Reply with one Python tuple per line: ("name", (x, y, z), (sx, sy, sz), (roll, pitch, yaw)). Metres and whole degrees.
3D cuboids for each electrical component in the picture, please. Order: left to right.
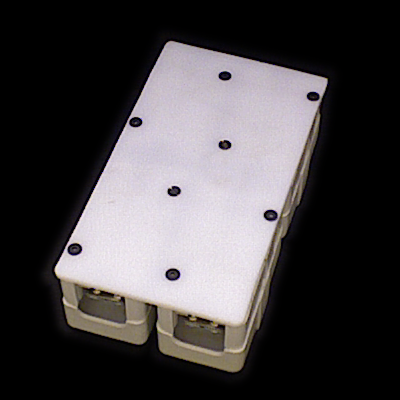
("electrical component", (0.000, 0.000, 0.627), (0.105, 0.185, 0.060), (14, -36, 11))
